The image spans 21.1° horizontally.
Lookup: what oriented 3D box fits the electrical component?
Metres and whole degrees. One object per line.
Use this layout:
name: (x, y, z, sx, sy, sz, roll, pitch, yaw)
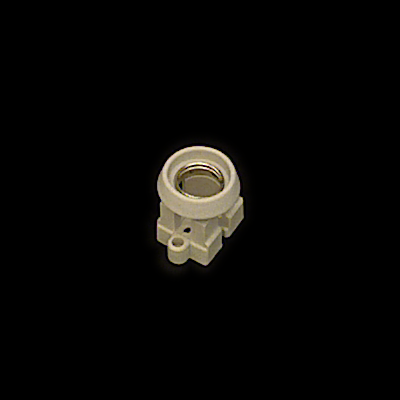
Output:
electrical component: (0.000, 0.000, 0.639, 0.048, 0.066, 0.056, 27, -33, 16)
